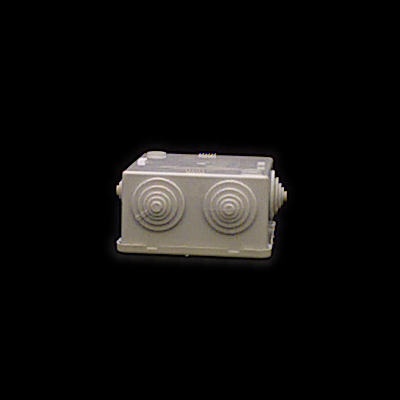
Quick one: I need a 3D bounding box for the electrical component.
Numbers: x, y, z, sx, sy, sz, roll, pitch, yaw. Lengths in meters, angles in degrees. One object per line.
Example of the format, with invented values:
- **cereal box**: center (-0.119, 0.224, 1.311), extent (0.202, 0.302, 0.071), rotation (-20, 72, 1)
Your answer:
- **electrical component**: center (0.000, 0.000, 0.645), extent (0.100, 0.049, 0.099), rotation (2, 11, 5)
